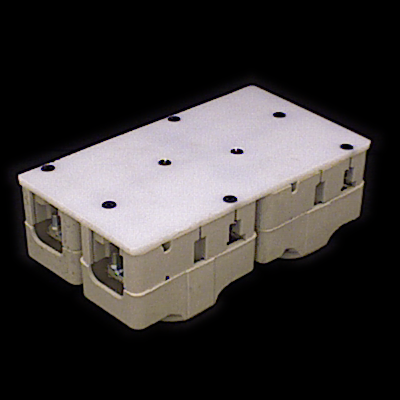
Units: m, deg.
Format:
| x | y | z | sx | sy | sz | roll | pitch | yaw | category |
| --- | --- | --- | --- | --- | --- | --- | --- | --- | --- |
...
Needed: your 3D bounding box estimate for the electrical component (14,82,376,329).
| x | y | z | sx | sy | sz | roll | pitch | yaw | category |
| --- | --- | --- | --- | --- | --- | --- | --- | --- | --- |
| 0.000 | 0.000 | 0.634 | 0.186 | 0.061 | 0.104 | -24 | 40 | -36 | electrical component |
